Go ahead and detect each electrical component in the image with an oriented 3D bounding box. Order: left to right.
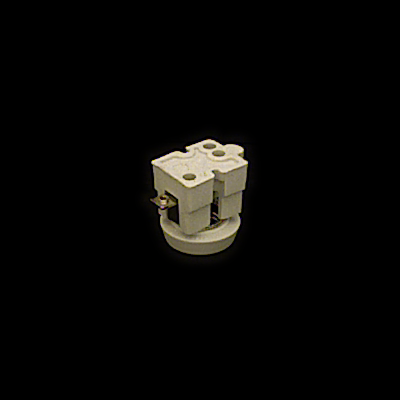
[{"bbox_3d":[0.000,0.000,0.644,0.067,0.056,0.047,-23,41,-31],"label":"electrical component"}]
